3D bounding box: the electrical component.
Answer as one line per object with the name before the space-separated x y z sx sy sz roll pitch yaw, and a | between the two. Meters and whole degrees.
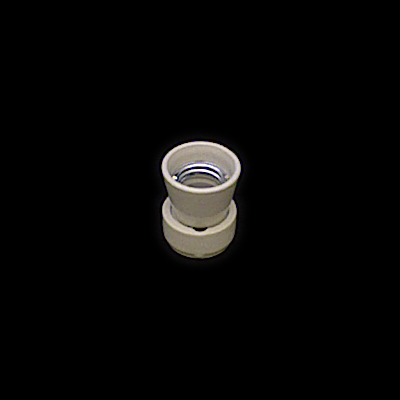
electrical component | 0.000 0.000 0.633 0.045 0.056 0.044 1 42 -1
